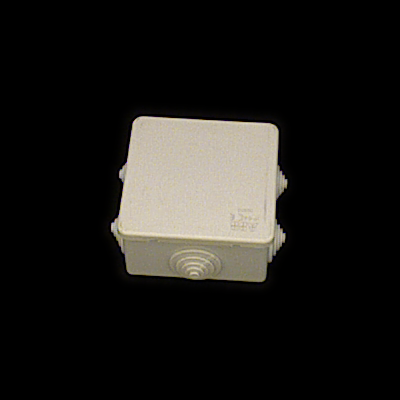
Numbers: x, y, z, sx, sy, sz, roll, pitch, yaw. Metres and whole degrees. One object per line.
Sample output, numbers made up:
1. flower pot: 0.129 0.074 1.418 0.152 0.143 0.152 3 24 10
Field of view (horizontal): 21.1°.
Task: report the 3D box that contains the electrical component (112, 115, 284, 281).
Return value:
1. electrical component: 0.000 0.000 0.640 0.100 0.099 0.048 4 -37 2
